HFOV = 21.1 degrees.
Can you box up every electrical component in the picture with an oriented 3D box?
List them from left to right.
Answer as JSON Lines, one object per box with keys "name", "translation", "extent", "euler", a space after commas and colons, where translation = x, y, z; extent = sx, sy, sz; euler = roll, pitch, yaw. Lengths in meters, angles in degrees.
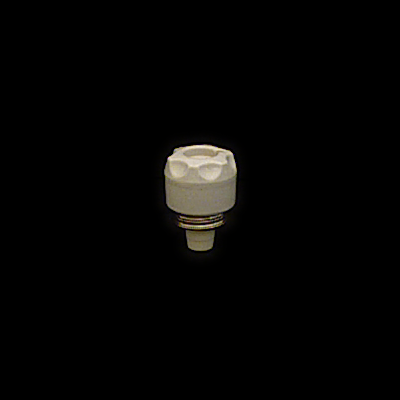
{"name": "electrical component", "translation": [0.000, 0.000, 0.645], "extent": [0.043, 0.063, 0.043], "euler": [0, 23, 0]}
